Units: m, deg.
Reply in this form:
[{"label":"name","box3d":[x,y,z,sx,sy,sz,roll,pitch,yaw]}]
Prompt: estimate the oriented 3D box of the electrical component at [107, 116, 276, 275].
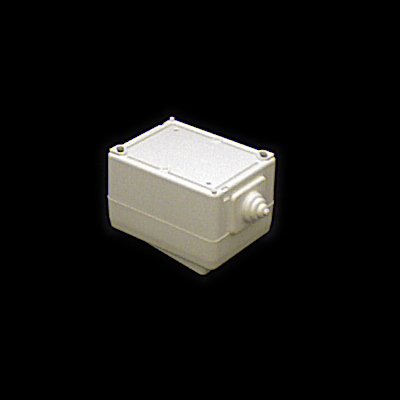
[{"label":"electrical component","box3d":[0.000,0.000,0.632,0.096,0.061,0.061,22,36,31]}]
